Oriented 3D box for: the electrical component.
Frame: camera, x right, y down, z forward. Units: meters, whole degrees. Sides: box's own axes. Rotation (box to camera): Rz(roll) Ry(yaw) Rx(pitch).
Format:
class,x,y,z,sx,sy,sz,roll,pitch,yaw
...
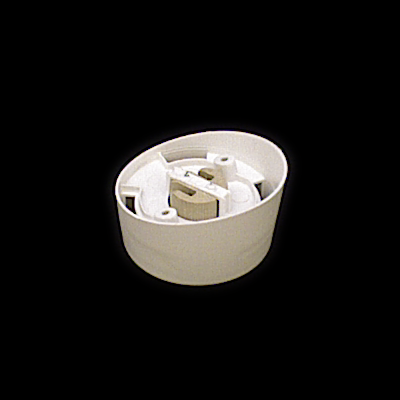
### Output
class,x,y,z,sx,sy,sz,roll,pitch,yaw
electrical component,0.000,0.000,0.629,0.099,0.065,0.098,1,42,-1
